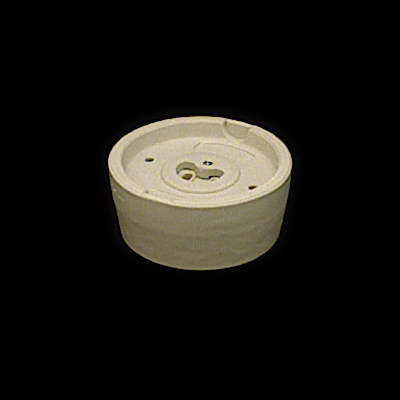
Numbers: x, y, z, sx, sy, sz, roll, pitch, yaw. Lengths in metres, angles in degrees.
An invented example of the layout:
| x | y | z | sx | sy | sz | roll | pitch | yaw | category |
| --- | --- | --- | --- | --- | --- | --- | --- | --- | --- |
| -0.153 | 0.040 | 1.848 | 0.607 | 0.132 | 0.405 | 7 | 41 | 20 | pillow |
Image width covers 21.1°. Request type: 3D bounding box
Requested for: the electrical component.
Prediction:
| x | y | z | sx | sy | sz | roll | pitch | yaw | category |
| --- | --- | --- | --- | --- | --- | --- | --- | --- | --- |
| 0.000 | 0.000 | 0.645 | 0.108 | 0.061 | 0.106 | 1 | 32 | 0 | electrical component |
